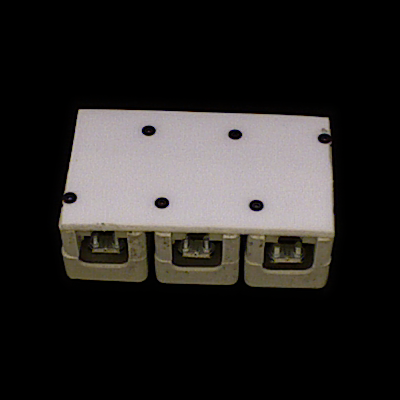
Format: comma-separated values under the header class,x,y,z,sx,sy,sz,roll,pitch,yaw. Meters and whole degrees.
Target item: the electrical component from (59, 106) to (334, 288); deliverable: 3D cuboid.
class,x,y,z,sx,sy,sz,roll,pitch,yaw
electrical component,0.000,0.000,0.632,0.150,0.088,0.062,2,-38,1
